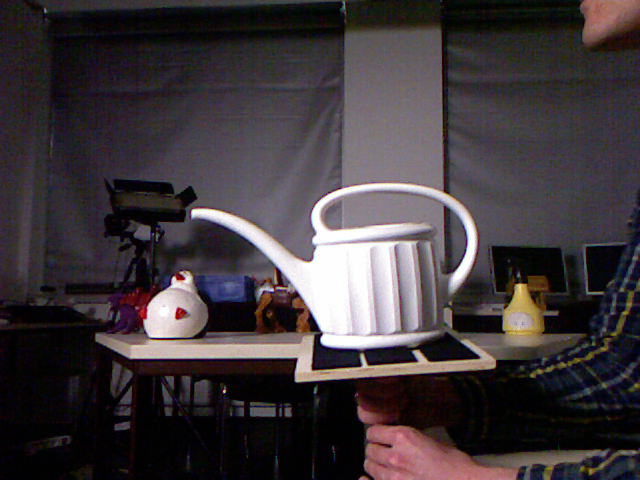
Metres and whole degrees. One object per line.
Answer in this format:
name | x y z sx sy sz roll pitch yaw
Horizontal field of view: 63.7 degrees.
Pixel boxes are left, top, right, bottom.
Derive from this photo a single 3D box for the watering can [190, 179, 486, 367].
watering can | 0.026 0.042 0.620 0.350 0.225 0.105 -4 2 -1
